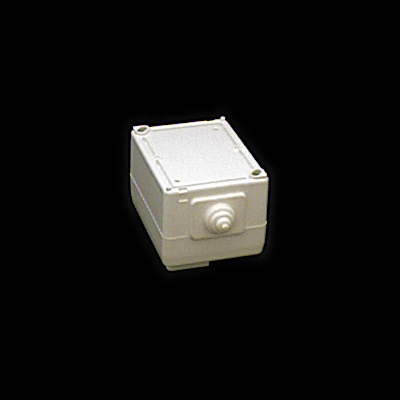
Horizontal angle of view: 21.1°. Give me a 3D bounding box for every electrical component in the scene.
[{"bbox_3d":[0.000,0.000,0.628,0.061,0.061,0.095,-8,32,-16],"label":"electrical component"}]
